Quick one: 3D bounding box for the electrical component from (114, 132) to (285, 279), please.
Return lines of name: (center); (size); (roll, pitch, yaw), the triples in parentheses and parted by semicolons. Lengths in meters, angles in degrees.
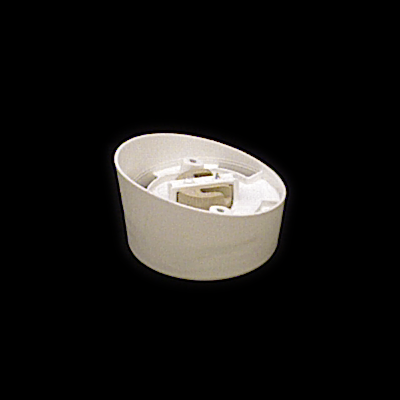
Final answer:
electrical component: (0.000, 0.000, 0.632); (0.099, 0.065, 0.097); (0, 32, 0)
